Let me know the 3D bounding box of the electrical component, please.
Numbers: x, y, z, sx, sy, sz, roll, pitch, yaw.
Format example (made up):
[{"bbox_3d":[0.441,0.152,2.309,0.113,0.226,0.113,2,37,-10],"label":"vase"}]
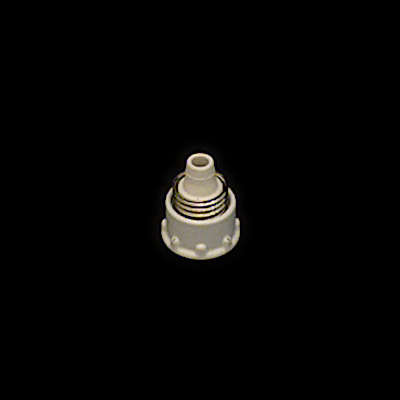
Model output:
[{"bbox_3d":[0.000,0.000,0.638,0.048,0.062,0.047,1,41,0],"label":"electrical component"}]
